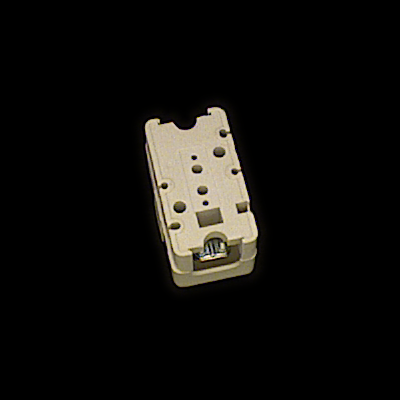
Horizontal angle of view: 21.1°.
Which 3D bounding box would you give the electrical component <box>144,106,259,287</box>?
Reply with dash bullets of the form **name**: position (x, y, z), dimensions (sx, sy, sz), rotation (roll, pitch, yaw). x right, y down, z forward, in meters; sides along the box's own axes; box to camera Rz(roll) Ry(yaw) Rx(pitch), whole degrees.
- **electrical component**: position (0.000, 0.000, 0.636), dimensions (0.050, 0.089, 0.055), rotation (-11, -25, -6)
